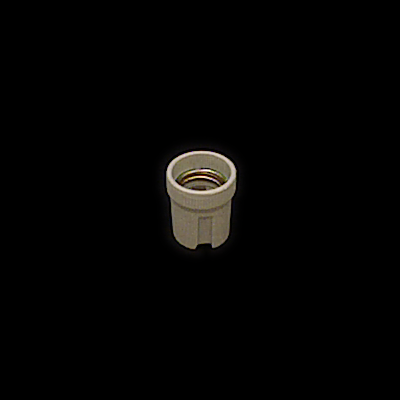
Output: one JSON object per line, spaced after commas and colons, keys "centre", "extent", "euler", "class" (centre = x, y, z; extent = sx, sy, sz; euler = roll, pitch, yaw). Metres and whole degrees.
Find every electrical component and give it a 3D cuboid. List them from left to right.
{"centre": [0.000, 0.000, 0.635], "extent": [0.040, 0.047, 0.039], "euler": [1, 42, 0], "class": "electrical component"}
